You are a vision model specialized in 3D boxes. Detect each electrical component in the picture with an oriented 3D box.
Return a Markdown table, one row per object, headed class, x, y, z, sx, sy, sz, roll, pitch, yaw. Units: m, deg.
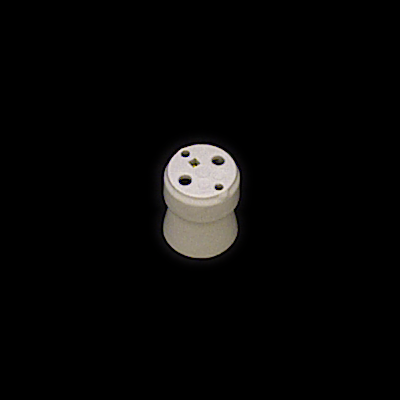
| class | x | y | z | sx | sy | sz | roll | pitch | yaw |
| --- | --- | --- | --- | --- | --- | --- | --- | --- | --- |
| electrical component | 0.000 | 0.000 | 0.631 | 0.045 | 0.044 | 0.055 | 0 | -37 | -1 |
